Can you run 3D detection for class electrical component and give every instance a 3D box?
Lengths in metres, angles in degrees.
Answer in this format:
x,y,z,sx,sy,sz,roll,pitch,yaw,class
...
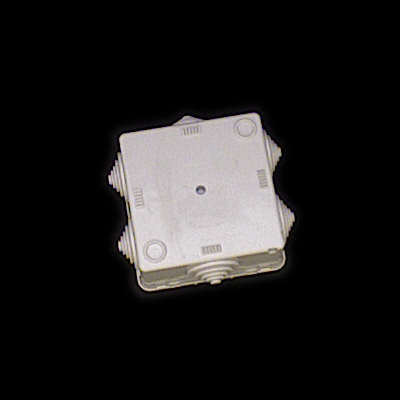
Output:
x,y,z,sx,sy,sz,roll,pitch,yaw,class
0.000,0.000,0.631,0.100,0.100,0.048,-9,-16,-3,electrical component
